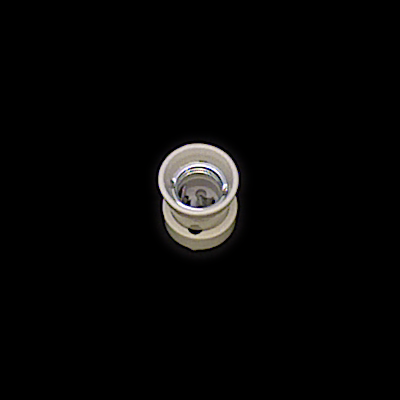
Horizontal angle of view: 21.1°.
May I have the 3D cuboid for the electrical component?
[{"bbox_3d":[0.000,0.000,0.627,0.045,0.045,0.055,0,-27,0],"label":"electrical component"}]
